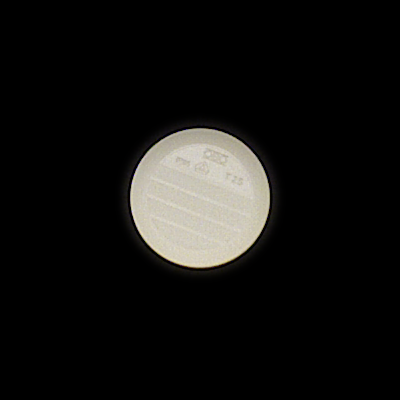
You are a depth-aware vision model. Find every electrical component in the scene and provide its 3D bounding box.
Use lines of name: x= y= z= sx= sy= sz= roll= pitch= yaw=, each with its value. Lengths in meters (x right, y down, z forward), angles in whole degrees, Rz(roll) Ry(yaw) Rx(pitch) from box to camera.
electrical component: x=0.000 y=0.000 z=0.631 sx=0.080 sy=0.080 sz=0.050 roll=0 pitch=-6 yaw=0
